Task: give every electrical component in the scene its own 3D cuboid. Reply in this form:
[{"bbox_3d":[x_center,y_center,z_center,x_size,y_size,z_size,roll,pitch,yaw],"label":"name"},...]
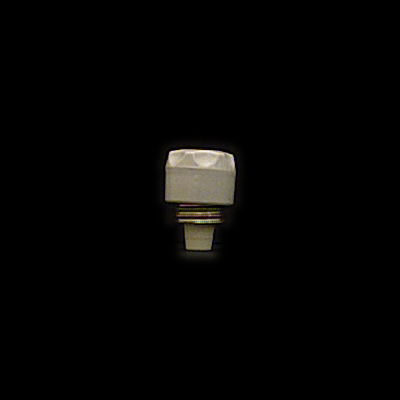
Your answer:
[{"bbox_3d":[0.000,0.000,0.656,0.043,0.062,0.043,2,2,0],"label":"electrical component"}]
